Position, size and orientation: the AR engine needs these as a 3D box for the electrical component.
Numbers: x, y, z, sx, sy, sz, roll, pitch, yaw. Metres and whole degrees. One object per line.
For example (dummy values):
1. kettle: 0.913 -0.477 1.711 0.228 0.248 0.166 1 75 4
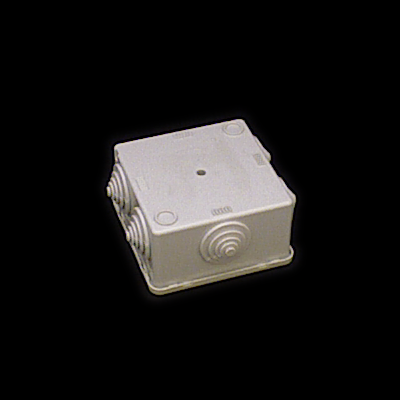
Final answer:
1. electrical component: 0.000 0.000 0.635 0.100 0.049 0.098 -12 44 -14
